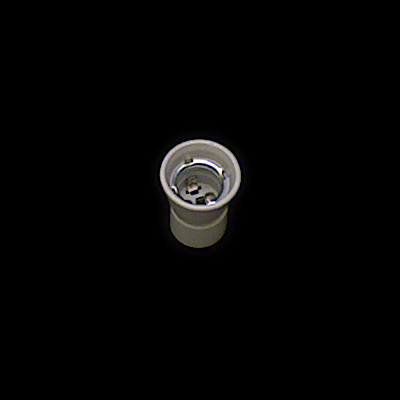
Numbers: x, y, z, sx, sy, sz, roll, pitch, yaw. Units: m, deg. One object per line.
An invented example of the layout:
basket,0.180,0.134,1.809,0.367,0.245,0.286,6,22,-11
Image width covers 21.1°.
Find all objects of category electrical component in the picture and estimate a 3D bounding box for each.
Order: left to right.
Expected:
electrical component,0.000,0.000,0.625,0.044,0.044,0.065,0,-28,-1
